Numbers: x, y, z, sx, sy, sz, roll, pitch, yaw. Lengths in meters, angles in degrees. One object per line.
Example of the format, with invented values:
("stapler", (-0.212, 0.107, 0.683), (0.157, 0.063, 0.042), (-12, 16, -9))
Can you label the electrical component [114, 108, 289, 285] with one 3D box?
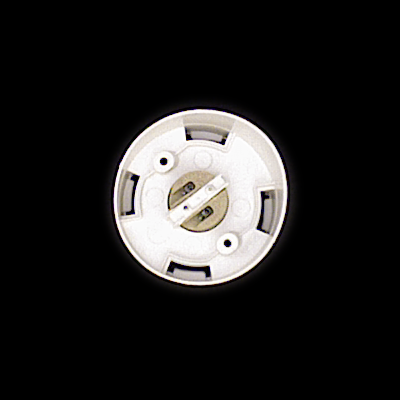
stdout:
("electrical component", (0.000, 0.000, 0.624), (0.099, 0.099, 0.064), (0, -7, 0))
